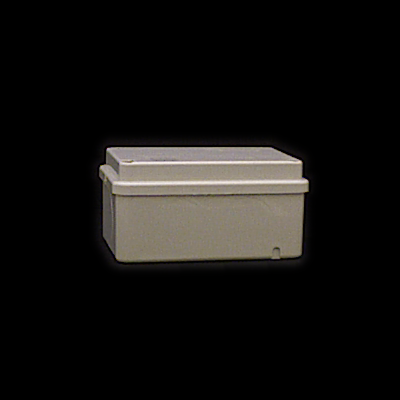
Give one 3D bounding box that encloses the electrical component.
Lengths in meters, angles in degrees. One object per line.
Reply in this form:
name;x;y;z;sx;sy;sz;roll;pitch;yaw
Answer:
electrical component;0.000;0.000;0.641;0.113;0.057;0.077;-1;11;-12
